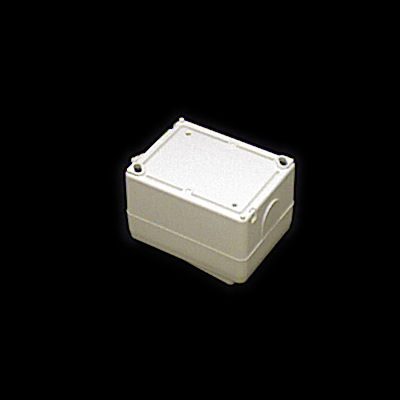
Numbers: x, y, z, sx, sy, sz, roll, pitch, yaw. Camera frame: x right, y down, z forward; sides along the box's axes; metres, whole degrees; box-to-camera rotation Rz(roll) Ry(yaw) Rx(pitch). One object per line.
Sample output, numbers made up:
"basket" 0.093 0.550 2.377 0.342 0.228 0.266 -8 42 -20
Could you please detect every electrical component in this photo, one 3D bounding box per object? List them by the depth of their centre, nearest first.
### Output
"electrical component" 0.000 0.000 0.632 0.095 0.061 0.061 22 46 22
